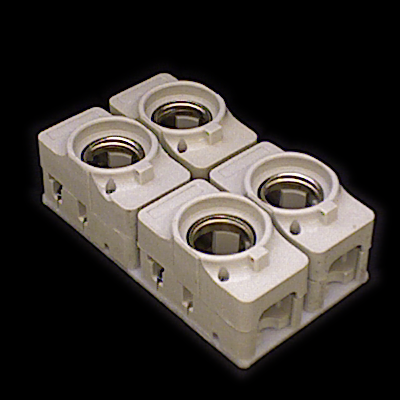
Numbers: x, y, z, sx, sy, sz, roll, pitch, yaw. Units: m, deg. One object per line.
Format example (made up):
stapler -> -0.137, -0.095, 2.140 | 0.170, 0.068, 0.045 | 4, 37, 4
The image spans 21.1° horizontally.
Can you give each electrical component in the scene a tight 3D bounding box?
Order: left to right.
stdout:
electrical component -> 0.000, 0.000, 0.630 | 0.105, 0.061, 0.185 | -31, 51, -30
